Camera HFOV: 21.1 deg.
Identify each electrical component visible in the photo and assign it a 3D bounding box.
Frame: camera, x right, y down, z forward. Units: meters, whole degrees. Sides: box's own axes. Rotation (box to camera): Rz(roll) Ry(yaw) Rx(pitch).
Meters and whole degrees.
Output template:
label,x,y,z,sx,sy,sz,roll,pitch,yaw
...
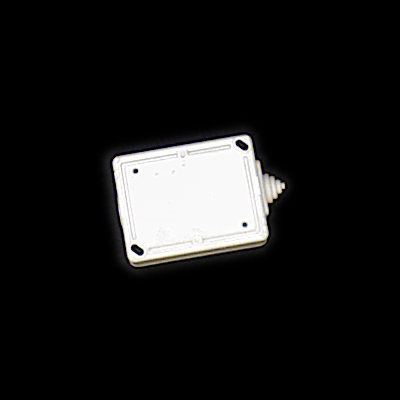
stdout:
label,x,y,z,sx,sy,sz,roll,pitch,yaw
electrical component,0.000,0.001,0.627,0.096,0.062,0.061,-10,-7,-1
